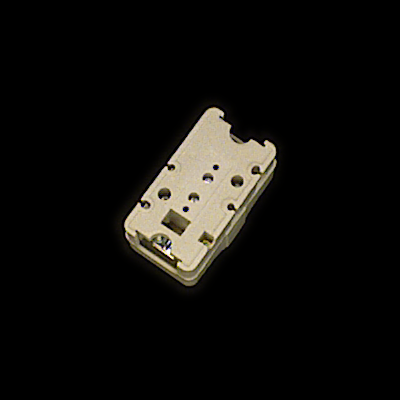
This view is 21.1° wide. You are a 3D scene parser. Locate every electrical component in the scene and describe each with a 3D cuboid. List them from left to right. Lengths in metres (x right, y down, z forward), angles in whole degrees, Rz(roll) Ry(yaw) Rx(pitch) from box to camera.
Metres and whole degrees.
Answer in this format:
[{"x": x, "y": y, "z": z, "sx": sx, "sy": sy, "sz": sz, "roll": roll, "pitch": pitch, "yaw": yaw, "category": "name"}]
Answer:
[{"x": 0.000, "y": 0.000, "z": 0.636, "sx": 0.050, "sy": 0.090, "sz": 0.055, "roll": 34, "pitch": -13, "yaw": 9, "category": "electrical component"}]
